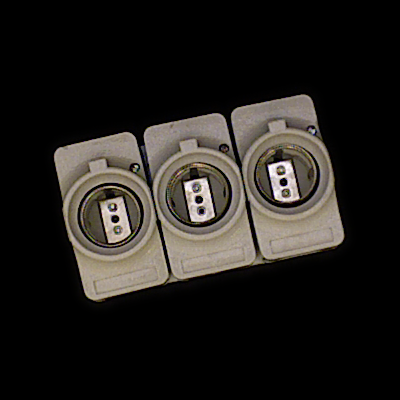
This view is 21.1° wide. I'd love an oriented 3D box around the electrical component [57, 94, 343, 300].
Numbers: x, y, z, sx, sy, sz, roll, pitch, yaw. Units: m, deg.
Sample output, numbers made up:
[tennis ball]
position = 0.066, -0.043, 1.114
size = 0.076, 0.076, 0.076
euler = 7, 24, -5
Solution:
[electrical component]
position = 0.000, 0.000, 0.632
size = 0.150, 0.089, 0.061
euler = -13, -7, -2
